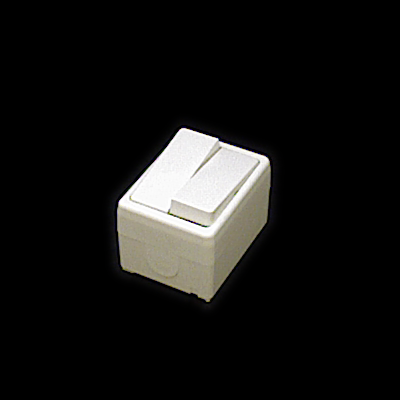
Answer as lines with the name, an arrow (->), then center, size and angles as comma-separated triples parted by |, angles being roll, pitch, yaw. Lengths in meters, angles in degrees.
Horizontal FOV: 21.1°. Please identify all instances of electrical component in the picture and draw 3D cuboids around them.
electrical component -> 0.000, 0.000, 0.632 | 0.061, 0.061, 0.096 | 20, 45, 20
